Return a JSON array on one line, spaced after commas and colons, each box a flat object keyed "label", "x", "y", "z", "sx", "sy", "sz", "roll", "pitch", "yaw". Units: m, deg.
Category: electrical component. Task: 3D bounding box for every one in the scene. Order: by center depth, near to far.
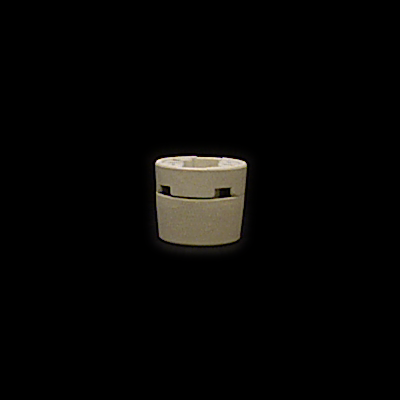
[{"label": "electrical component", "x": 0.000, "y": 0.000, "z": 0.647, "sx": 0.055, "sy": 0.047, "sz": 0.055, "roll": 1, "pitch": 11, "yaw": 0}]
